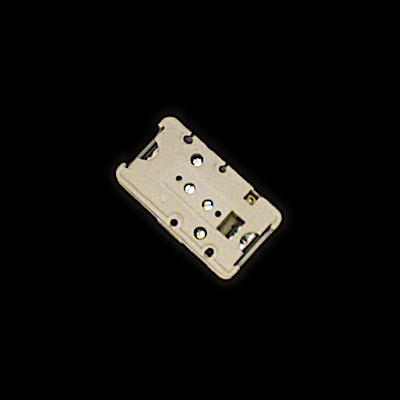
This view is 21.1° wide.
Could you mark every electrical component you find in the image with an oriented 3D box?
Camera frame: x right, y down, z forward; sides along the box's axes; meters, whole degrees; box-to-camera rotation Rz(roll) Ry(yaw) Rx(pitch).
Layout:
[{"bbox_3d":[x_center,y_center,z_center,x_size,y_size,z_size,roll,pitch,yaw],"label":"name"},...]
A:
[{"bbox_3d":[0.000,0.000,0.637,0.089,0.050,0.055,42,-5,4],"label":"electrical component"}]
